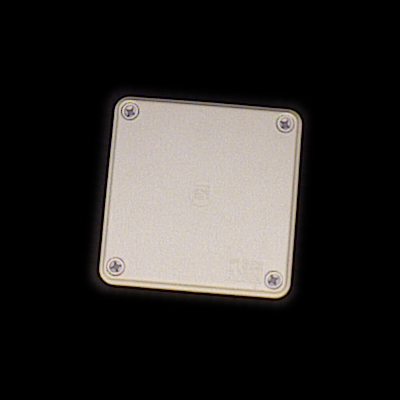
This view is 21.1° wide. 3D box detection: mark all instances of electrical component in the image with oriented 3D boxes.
[{"bbox_3d":[0.000,0.000,0.631,0.109,0.109,0.056,5,-7,1],"label":"electrical component"}]
